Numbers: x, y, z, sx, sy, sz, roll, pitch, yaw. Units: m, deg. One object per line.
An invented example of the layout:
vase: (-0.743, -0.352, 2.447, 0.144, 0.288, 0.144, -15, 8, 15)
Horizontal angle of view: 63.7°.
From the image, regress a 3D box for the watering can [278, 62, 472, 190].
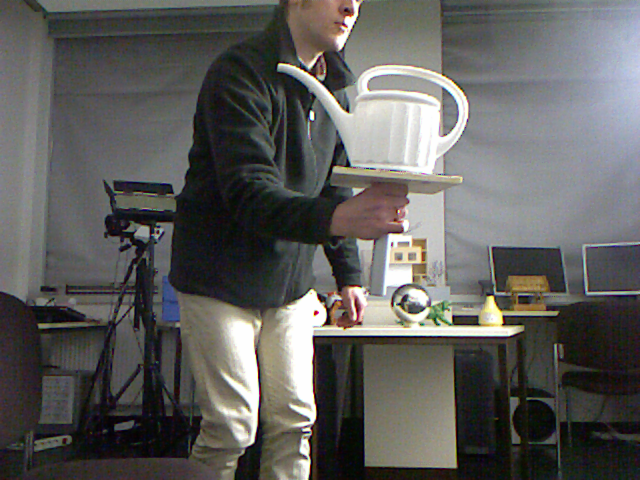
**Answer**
watering can: (0.091, -0.203, 0.916, 0.348, 0.224, 0.104, 6, 4, 0)
